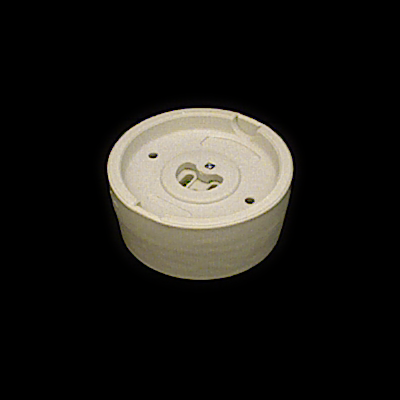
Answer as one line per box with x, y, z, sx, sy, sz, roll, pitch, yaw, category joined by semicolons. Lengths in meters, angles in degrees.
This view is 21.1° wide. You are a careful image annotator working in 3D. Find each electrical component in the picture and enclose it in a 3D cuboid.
0.000;0.000;0.641;0.108;0.061;0.106;1;43;0;electrical component
